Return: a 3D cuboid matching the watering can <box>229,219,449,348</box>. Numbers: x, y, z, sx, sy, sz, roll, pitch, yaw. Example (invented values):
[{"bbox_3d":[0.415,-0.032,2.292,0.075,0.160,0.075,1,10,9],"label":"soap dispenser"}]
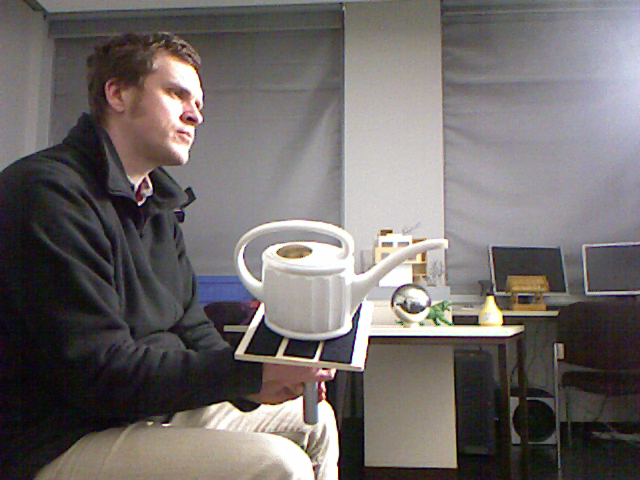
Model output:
[{"bbox_3d":[0.022,0.073,0.832,0.349,0.220,0.106,4,28,10],"label":"watering can"}]
